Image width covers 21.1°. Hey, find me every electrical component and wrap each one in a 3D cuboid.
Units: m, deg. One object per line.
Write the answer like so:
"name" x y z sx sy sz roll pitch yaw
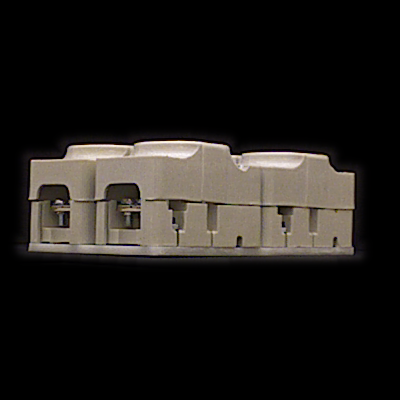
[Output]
"electrical component" 0.000 0.000 0.651 0.105 0.060 0.187 1 -1 42
